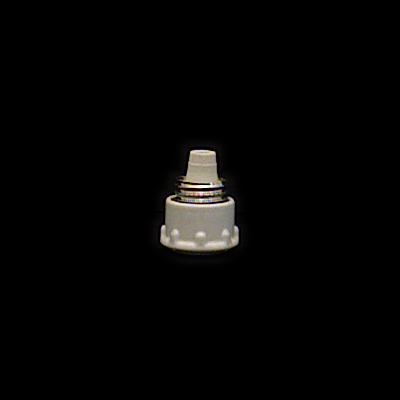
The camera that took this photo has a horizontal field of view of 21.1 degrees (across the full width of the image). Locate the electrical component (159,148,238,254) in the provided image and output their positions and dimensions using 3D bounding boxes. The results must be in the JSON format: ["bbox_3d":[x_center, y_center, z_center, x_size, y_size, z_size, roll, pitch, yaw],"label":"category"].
[{"bbox_3d":[0.000,0.000,0.652,0.048,0.062,0.048,2,12,0],"label":"electrical component"}]
